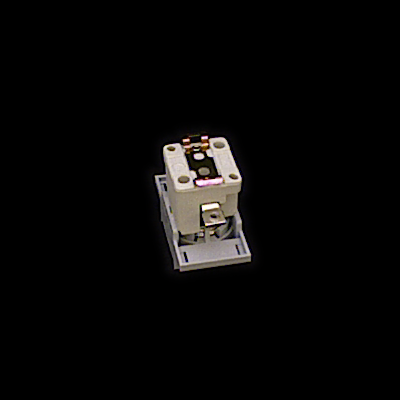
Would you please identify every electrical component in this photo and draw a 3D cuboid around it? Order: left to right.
[{"bbox_3d":[0.000,0.000,0.630,0.042,0.064,0.080,-8,43,-10],"label":"electrical component"}]
